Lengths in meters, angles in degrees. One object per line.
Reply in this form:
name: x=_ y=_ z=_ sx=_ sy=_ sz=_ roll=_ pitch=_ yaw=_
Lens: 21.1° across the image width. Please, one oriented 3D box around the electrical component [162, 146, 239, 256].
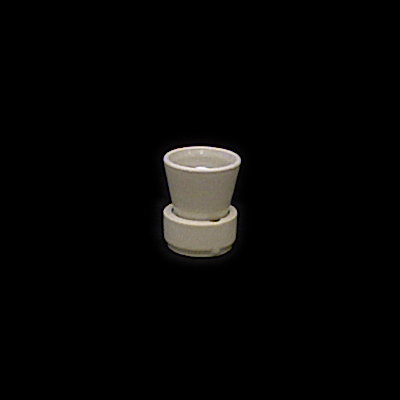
electrical component: x=0.000 y=0.000 z=0.641 sx=0.045 sy=0.056 sz=0.044 roll=2 pitch=21 yaw=0
